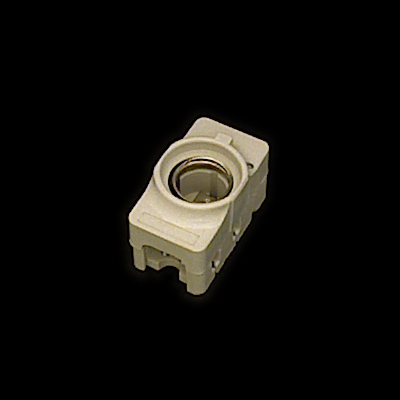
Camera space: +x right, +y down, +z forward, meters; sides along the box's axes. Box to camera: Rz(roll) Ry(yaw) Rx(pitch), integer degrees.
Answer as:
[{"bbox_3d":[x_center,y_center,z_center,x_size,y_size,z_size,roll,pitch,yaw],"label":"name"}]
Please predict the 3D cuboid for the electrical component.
[{"bbox_3d":[0.000,0.000,0.637,0.050,0.090,0.056,23,-34,16],"label":"electrical component"}]
